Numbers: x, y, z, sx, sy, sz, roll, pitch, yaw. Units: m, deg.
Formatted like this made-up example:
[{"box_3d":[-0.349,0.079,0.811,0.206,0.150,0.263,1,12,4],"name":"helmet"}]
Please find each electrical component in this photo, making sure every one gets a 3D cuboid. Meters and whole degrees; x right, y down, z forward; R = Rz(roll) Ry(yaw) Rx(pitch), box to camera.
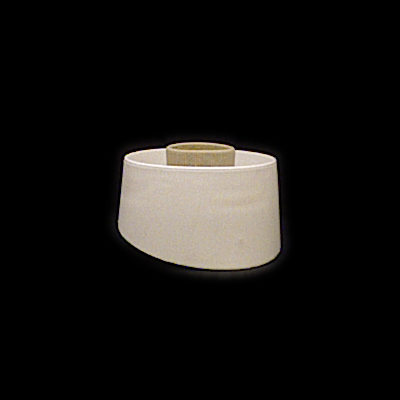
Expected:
[{"box_3d":[0.000,0.000,0.644,0.099,0.064,0.098,1,11,0],"name":"electrical component"}]
